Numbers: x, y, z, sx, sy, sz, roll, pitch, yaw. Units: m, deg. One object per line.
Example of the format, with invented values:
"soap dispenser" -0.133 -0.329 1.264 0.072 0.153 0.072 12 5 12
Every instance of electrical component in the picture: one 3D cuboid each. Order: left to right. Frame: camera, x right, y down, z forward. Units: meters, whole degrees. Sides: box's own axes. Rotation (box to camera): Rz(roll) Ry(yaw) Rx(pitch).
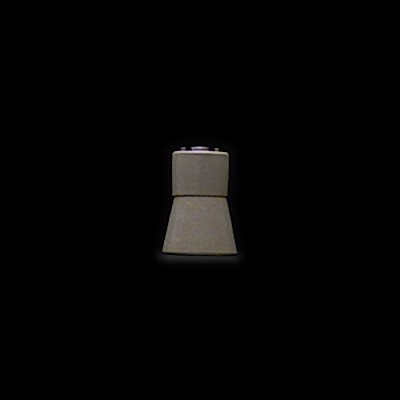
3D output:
"electrical component" 0.000 0.000 0.651 0.044 0.065 0.044 1 0 0
